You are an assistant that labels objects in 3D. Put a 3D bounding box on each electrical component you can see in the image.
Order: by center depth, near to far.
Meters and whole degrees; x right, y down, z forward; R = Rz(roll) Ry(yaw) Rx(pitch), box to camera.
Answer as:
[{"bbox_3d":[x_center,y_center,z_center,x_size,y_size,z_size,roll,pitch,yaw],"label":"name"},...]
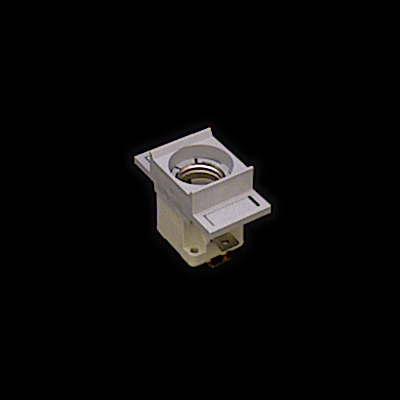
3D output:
[{"bbox_3d":[0.000,0.000,0.627,0.042,0.064,0.080,-22,46,-25],"label":"electrical component"}]
